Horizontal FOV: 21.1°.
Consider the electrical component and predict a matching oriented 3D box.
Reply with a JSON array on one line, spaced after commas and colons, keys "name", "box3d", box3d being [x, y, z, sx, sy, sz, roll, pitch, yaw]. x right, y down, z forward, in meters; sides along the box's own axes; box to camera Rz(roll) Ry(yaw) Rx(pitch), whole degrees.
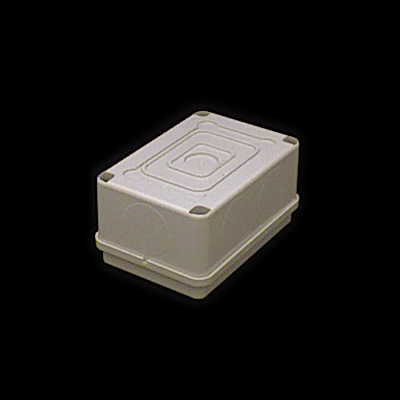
[{"name": "electrical component", "box3d": [0.000, 0.000, 0.635, 0.077, 0.058, 0.112, 20, 36, 28]}]
